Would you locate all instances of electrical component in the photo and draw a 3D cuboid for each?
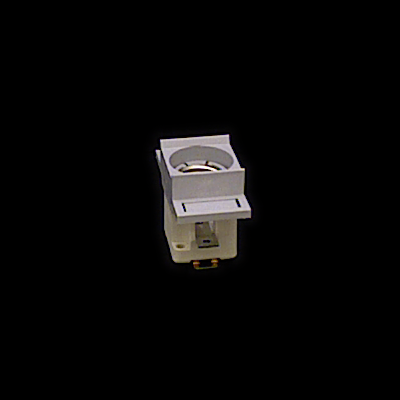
[{"bbox_3d":[0.000,0.000,0.631,0.042,0.064,0.079,-4,31,-9],"label":"electrical component"}]
